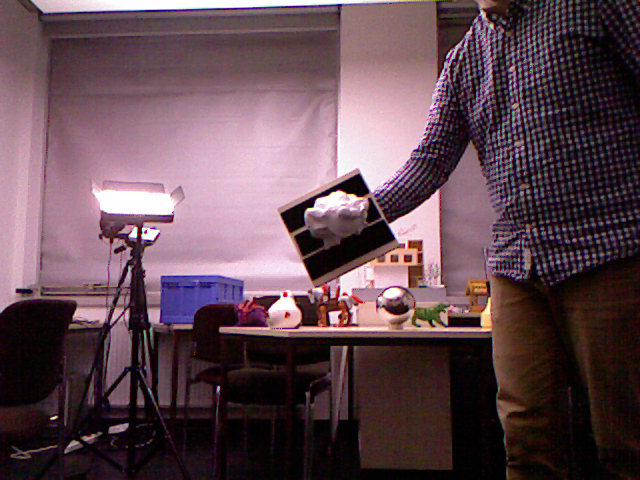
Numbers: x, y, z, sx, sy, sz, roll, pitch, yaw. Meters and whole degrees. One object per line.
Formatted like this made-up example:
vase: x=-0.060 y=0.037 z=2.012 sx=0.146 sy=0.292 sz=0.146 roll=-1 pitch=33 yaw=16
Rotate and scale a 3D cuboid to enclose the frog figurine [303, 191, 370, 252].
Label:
frog figurine: x=0.032 y=-0.051 z=1.040 sx=0.137 sy=0.125 sz=0.157 roll=-9 pitch=-18 yaw=6
